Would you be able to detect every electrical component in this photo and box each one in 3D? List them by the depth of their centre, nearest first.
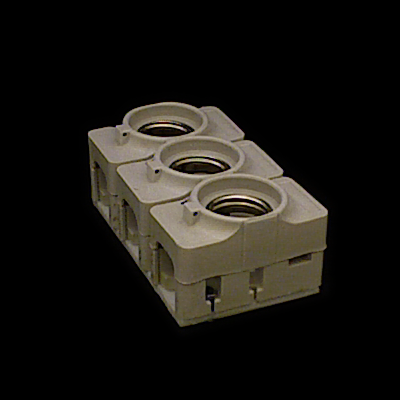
[{"bbox_3d":[0.000,0.000,0.639,0.089,0.063,0.147,-13,33,-21],"label":"electrical component"}]
